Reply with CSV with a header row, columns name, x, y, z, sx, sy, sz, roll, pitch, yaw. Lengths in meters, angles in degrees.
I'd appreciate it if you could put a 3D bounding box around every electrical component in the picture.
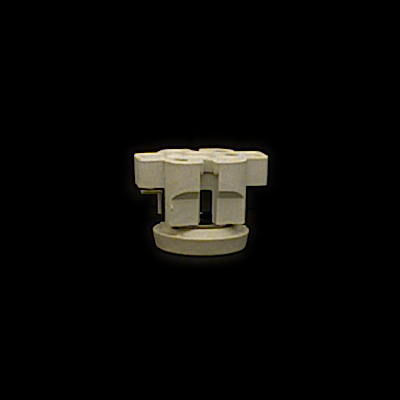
name,x,y,z,sx,sy,sz,roll,pitch,yaw
electrical component,0.000,0.000,0.649,0.079,0.057,0.057,-3,13,-12
